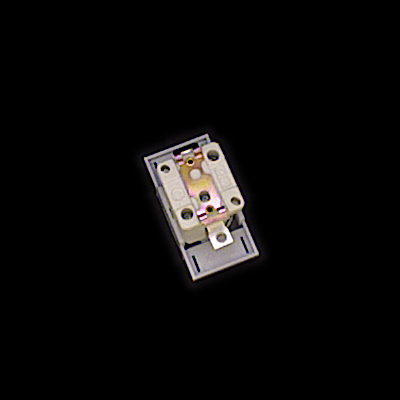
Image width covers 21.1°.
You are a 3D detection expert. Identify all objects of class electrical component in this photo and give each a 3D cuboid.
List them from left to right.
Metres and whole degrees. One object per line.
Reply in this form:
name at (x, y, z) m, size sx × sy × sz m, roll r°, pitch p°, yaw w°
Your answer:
electrical component at (0.000, 0.000, 0.625) m, size 0.042 × 0.081 × 0.063 m, roll -22°, pitch -15°, yaw -6°
